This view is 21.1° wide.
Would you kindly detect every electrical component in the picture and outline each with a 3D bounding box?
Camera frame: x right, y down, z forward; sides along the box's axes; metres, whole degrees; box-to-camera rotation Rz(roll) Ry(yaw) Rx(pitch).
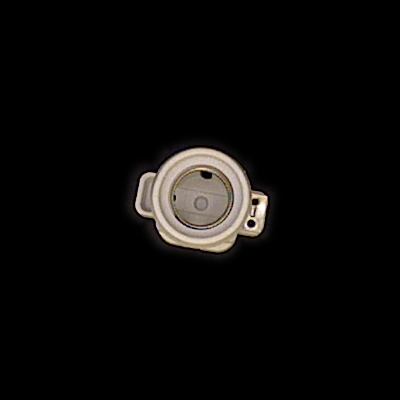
[{"bbox_3d":[0.000,0.000,0.630,0.078,0.058,0.056,10,-6,1],"label":"electrical component"}]
